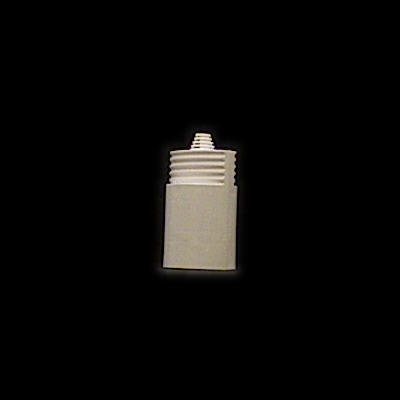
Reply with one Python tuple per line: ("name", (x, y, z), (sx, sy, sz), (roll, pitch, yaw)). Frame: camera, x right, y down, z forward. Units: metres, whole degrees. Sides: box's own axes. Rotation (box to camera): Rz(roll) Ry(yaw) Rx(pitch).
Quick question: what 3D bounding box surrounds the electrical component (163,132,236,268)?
("electrical component", (0.000, 0.000, 0.649), (0.043, 0.081, 0.043), (1, 1, 0))
